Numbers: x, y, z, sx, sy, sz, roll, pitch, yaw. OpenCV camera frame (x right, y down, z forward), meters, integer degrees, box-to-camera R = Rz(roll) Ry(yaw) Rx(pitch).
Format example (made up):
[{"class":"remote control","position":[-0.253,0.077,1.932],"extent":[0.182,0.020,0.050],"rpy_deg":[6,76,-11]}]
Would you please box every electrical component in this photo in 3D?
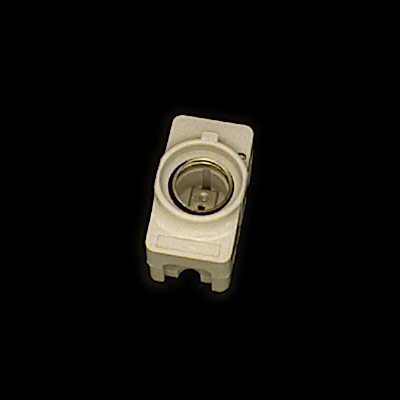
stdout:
[{"class":"electrical component","position":[0.000,0.000,0.636],"extent":[0.050,0.090,0.055],"rpy_deg":[9,-26,5]}]
